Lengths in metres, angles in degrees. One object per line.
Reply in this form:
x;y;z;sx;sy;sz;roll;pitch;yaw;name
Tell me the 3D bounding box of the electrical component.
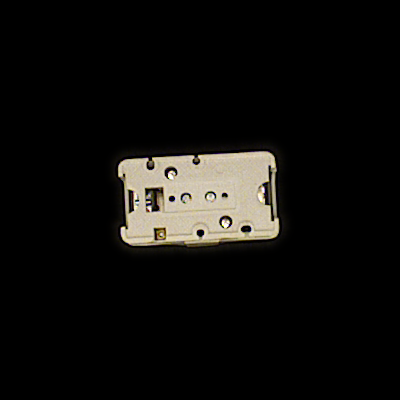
0.000;0.000;0.637;0.089;0.050;0.055;-3;-5;0;electrical component
